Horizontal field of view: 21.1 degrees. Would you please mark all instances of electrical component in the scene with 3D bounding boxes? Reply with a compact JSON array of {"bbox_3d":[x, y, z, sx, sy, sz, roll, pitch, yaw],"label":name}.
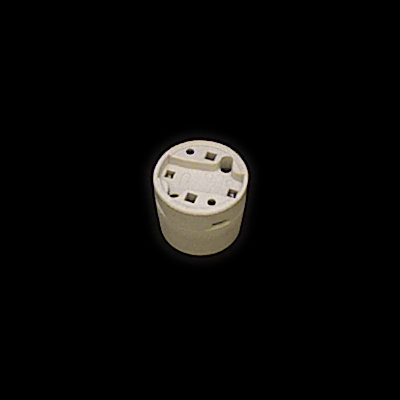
[{"bbox_3d":[0.000,0.000,0.635,0.055,0.055,0.047,0,-38,0],"label":"electrical component"}]
